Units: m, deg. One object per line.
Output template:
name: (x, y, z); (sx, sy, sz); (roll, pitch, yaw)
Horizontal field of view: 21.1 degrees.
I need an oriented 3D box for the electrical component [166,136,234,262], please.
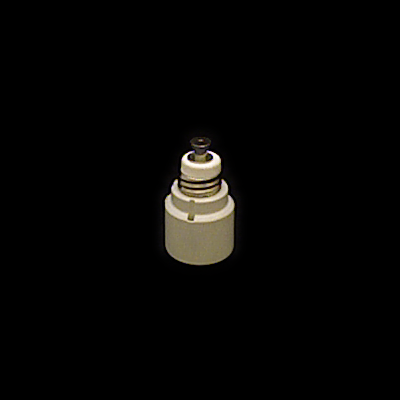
electrical component: (0.000, 0.000, 0.631); (0.040, 0.079, 0.039); (1, 32, 0)
